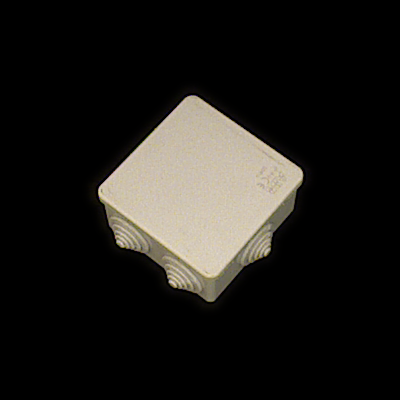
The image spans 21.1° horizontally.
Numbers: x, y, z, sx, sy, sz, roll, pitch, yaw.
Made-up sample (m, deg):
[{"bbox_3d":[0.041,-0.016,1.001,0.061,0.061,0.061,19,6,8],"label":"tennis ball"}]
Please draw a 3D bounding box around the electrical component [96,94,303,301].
[{"bbox_3d":[0.000,0.000,0.640,0.099,0.100,0.048,36,-21,16],"label":"electrical component"}]
